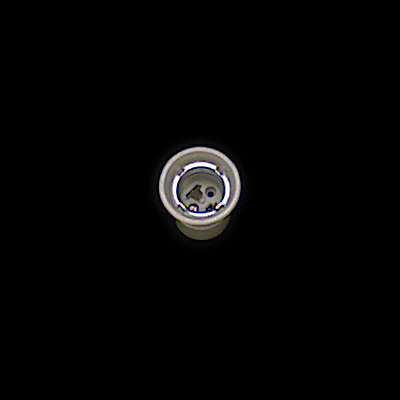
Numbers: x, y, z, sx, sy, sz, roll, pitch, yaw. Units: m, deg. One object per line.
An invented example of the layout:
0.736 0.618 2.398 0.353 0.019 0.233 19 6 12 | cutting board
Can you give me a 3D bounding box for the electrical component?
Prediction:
0.000 0.000 0.624 0.044 0.044 0.065 0 -16 1 | electrical component
